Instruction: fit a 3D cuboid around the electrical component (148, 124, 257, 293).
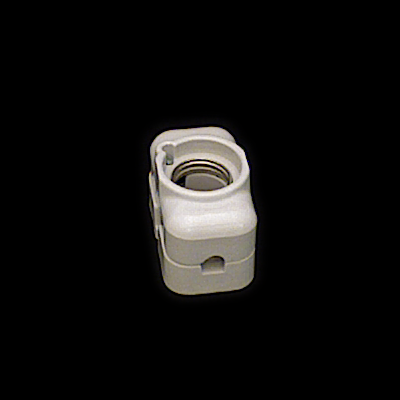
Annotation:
[{"bbox_3d":[0.000,0.000,0.637,0.054,0.060,0.094,-6,43,-8],"label":"electrical component"}]
